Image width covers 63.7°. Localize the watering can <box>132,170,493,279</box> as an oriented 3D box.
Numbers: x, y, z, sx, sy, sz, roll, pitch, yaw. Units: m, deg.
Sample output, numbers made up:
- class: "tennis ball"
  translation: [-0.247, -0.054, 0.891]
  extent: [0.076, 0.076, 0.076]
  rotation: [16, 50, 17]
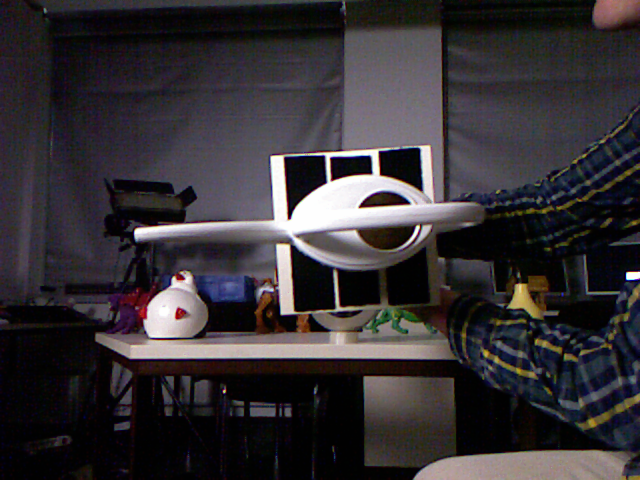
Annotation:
- class: "watering can"
  translation: [0.001, -0.012, 0.564]
  extent: [0.351, 0.106, 0.225]
  rotation: [-4, -9, -1]
